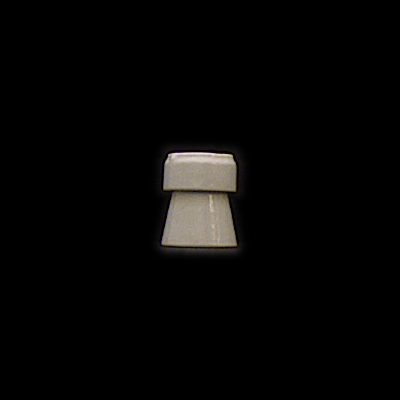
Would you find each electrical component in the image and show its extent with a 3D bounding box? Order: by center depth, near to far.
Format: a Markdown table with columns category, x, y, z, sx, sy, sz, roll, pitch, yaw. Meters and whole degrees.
| category | x | y | z | sx | sy | sz | roll | pitch | yaw |
| --- | --- | --- | --- | --- | --- | --- | --- | --- | --- |
| electrical component | 0.000 | 0.000 | 0.650 | 0.045 | 0.055 | 0.045 | 1 | 1 | 0 |
